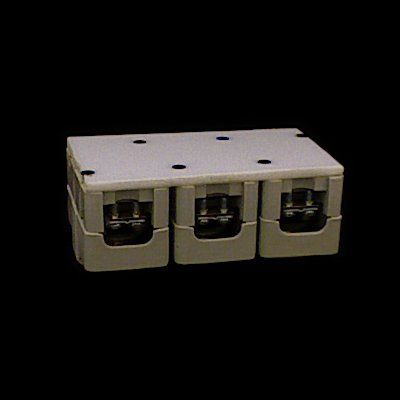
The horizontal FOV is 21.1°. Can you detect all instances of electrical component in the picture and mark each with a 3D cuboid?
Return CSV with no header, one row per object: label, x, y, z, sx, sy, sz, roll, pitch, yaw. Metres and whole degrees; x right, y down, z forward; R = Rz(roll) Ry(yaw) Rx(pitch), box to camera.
electrical component,0.000,0.000,0.648,0.150,0.063,0.088,-3,21,-13
